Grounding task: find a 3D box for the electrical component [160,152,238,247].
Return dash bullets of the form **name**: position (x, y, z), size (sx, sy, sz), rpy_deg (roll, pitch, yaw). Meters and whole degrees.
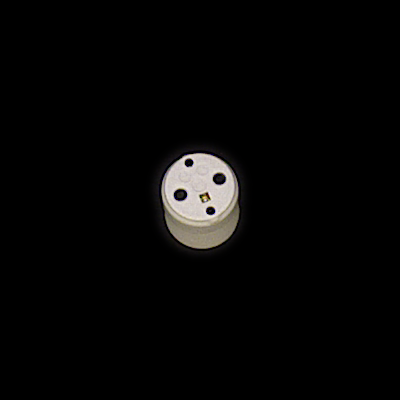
- **electrical component**: position (0.000, 0.000, 0.628), size (0.045, 0.045, 0.055), rpy_deg (0, -17, 1)
